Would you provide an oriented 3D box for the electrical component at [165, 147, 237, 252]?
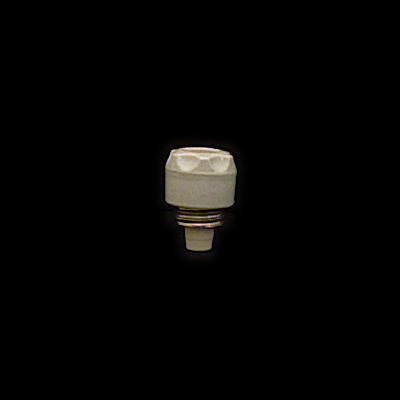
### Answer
[{"bbox_3d":[0.000,0.000,0.651,0.043,0.062,0.043,2,12,0],"label":"electrical component"}]
